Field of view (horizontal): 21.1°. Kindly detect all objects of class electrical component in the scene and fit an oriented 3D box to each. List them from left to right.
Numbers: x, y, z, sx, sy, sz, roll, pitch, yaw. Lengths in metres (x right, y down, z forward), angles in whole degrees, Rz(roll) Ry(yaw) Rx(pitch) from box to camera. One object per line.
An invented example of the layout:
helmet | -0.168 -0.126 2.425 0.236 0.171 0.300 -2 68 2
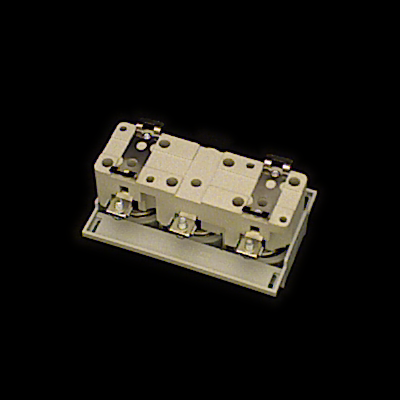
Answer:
electrical component | 0.000 0.000 0.637 0.121 0.078 0.063 17 -36 12
